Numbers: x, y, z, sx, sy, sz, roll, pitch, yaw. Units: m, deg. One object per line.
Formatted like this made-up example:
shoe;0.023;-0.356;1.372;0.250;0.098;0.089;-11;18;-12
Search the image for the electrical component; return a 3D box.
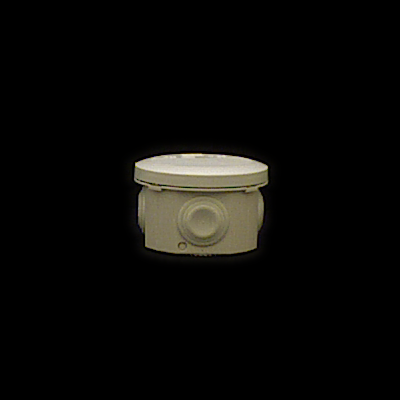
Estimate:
electrical component;0.000;0.000;0.646;0.080;0.051;0.079;1;11;0
